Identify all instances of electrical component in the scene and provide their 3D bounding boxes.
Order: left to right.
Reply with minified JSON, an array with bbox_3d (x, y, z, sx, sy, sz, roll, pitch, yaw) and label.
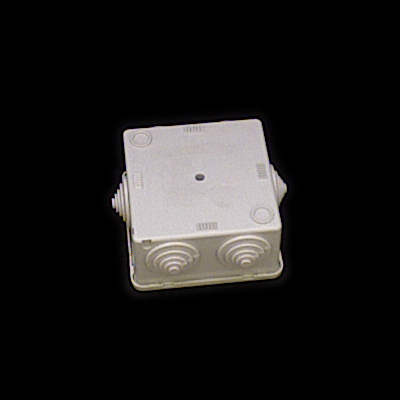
[{"bbox_3d":[0.000,0.000,0.632,0.100,0.099,0.049,-5,-37,-4],"label":"electrical component"}]
